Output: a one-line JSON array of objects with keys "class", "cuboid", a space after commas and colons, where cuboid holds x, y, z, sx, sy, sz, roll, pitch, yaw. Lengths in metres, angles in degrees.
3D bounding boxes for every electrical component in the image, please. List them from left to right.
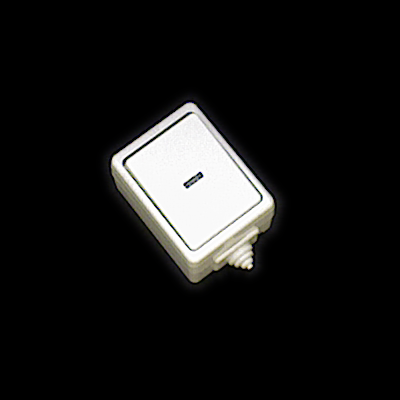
[{"class": "electrical component", "cuboid": [0.000, 0.000, 0.625, 0.062, 0.096, 0.060, -37, -13, -10]}]
